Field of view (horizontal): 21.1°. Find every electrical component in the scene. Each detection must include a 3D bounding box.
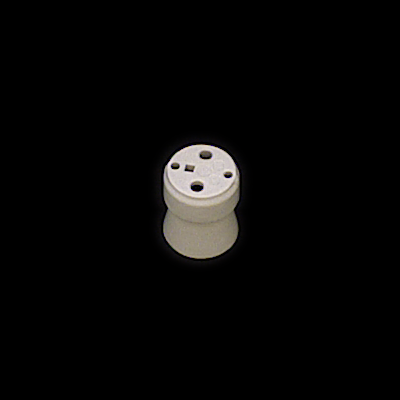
[{"bbox_3d":[0.000,0.000,0.631,0.045,0.044,0.055,0,-38,-1],"label":"electrical component"}]
